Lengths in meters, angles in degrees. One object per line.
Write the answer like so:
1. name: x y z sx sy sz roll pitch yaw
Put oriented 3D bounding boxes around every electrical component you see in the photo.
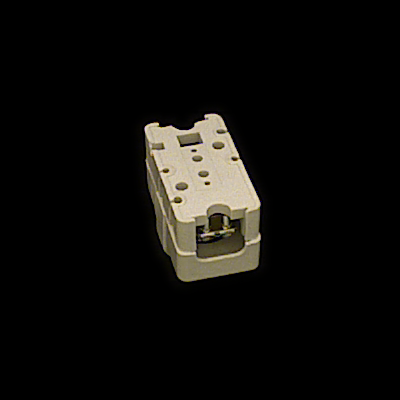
1. electrical component: 0.000 0.000 0.639 0.050 0.056 0.088 -10 43 -11
